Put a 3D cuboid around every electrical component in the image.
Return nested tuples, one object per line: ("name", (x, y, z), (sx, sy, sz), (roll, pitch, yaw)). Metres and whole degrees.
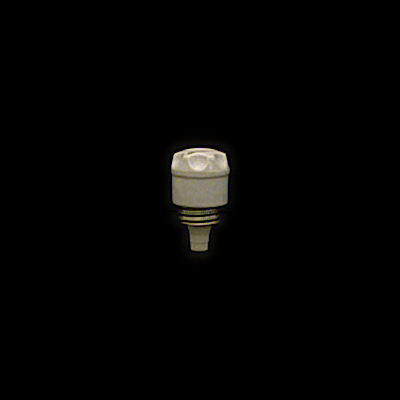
("electrical component", (0.000, 0.000, 0.650), (0.035, 0.062, 0.035), (1, 12, 0))
